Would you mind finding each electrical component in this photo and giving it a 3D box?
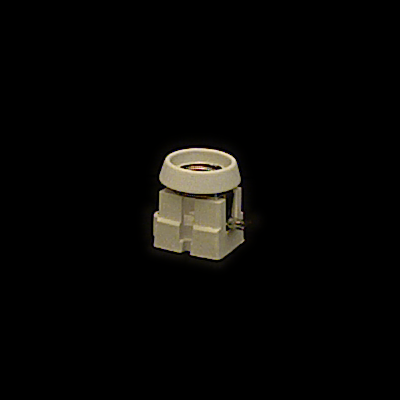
[{"bbox_3d":[0.000,0.000,0.647,0.066,0.056,0.048,11,26,23],"label":"electrical component"}]
